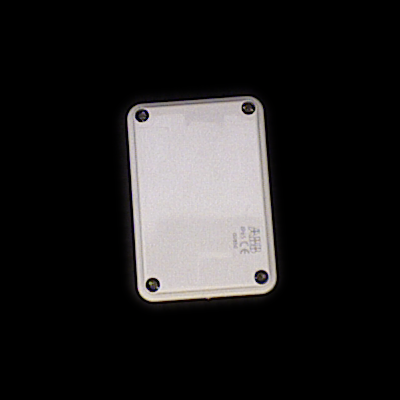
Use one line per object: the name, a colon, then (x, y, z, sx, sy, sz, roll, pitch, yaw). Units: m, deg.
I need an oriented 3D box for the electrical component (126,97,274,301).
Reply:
electrical component: (0.000, 0.000, 0.628, 0.078, 0.113, 0.057, -4, -7, 0)
